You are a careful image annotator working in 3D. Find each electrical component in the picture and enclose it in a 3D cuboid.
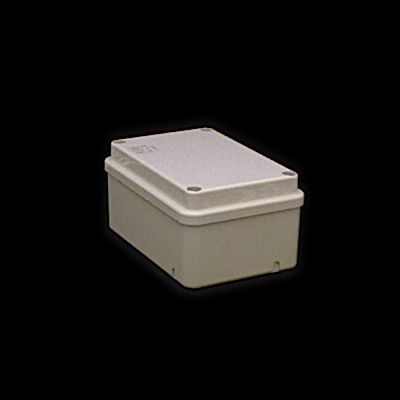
[{"bbox_3d":[0.000,0.000,0.637,0.078,0.058,0.111,-10,24,-27],"label":"electrical component"}]
